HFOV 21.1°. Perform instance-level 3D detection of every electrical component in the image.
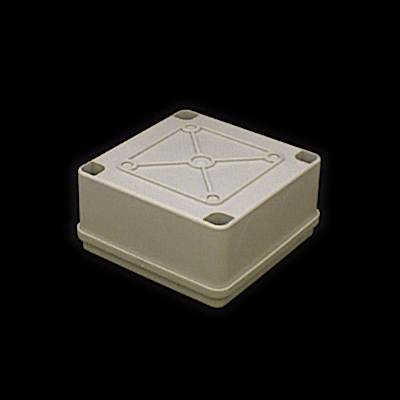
[{"bbox_3d":[0.000,0.000,0.636,0.108,0.057,0.108,22,37,30],"label":"electrical component"}]
